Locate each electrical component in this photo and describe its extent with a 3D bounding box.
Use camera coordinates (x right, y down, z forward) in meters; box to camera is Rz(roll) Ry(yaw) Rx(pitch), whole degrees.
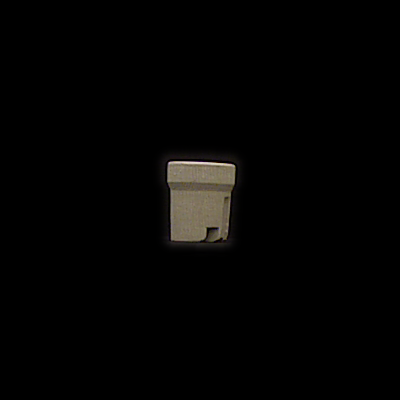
[{"bbox_3d":[0.000,0.000,0.648,0.040,0.046,0.040,1,1,0],"label":"electrical component"}]
